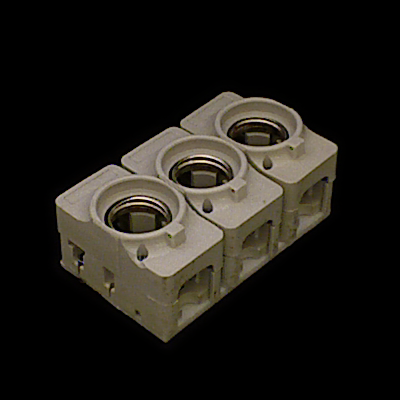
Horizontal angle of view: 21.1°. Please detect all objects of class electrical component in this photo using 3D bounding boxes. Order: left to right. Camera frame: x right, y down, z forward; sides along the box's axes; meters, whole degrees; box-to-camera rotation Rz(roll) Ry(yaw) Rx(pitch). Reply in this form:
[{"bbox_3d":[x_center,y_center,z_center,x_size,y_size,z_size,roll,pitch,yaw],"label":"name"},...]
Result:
[{"bbox_3d":[0.000,0.000,0.636,0.089,0.063,0.148,32,51,29],"label":"electrical component"}]
